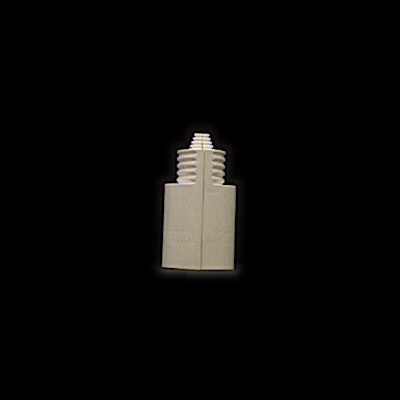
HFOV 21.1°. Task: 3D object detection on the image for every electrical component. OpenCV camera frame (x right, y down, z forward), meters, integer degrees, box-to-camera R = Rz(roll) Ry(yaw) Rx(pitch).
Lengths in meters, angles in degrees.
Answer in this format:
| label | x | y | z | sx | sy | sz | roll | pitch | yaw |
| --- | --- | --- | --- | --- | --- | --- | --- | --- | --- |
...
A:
| label | x | y | z | sx | sy | sz | roll | pitch | yaw |
| --- | --- | --- | --- | --- | --- | --- | --- | --- | --- |
| electrical component | 0.000 | 0.000 | 0.648 | 0.043 | 0.081 | 0.043 | 1 | 1 | 0 |
